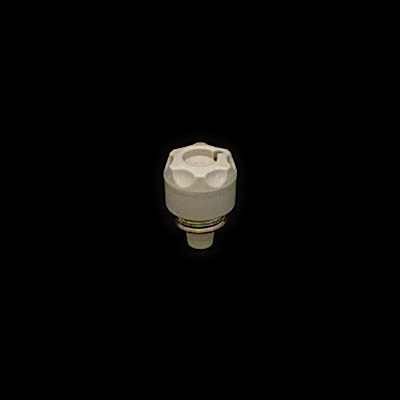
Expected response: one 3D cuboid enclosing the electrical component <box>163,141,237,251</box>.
[{"bbox_3d":[0.000,0.000,0.641,0.043,0.063,0.043,0,33,0],"label":"electrical component"}]
